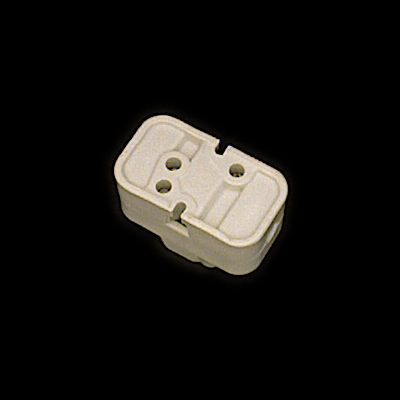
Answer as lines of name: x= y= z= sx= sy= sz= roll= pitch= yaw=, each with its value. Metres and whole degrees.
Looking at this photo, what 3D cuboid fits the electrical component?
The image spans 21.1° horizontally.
electrical component: x=0.000 y=0.000 z=0.634 sx=0.095 sy=0.054 sz=0.059 roll=28 pitch=-23 yaw=13
